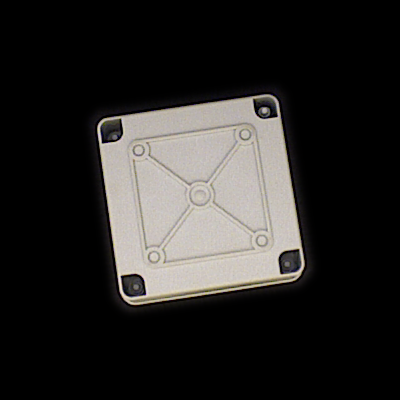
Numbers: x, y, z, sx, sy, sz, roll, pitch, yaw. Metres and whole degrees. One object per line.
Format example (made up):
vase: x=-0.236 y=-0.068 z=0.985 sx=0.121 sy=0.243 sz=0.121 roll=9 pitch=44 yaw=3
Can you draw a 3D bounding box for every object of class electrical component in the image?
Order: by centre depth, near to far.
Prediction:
electrical component: x=0.000 y=0.000 z=0.629 sx=0.109 sy=0.109 sz=0.056 roll=-8 pitch=-7 yaw=-2
